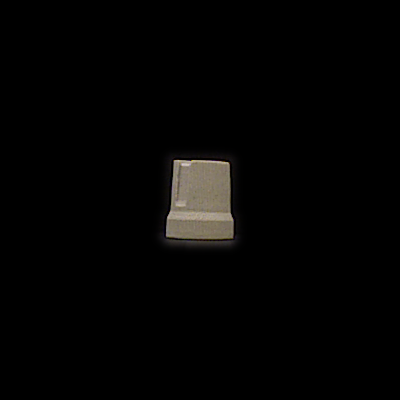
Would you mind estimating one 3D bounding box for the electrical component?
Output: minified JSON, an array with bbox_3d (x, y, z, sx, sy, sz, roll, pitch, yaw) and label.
[{"bbox_3d":[0.000,0.000,0.650,0.040,0.046,0.040,1,2,0],"label":"electrical component"}]
